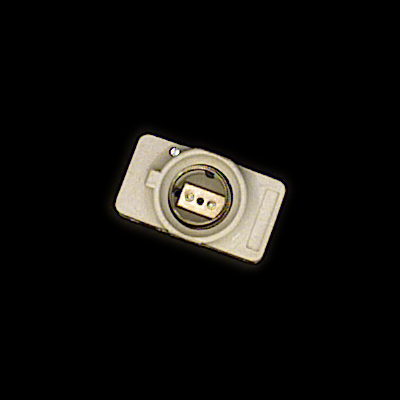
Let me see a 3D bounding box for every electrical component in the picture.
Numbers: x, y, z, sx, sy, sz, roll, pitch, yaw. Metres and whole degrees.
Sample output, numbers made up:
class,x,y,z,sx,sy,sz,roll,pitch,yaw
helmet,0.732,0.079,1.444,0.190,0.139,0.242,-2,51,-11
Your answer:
class,x,y,z,sx,sy,sz,roll,pitch,yaw
electrical component,0.000,0.000,0.637,0.089,0.050,0.055,20,-5,2
